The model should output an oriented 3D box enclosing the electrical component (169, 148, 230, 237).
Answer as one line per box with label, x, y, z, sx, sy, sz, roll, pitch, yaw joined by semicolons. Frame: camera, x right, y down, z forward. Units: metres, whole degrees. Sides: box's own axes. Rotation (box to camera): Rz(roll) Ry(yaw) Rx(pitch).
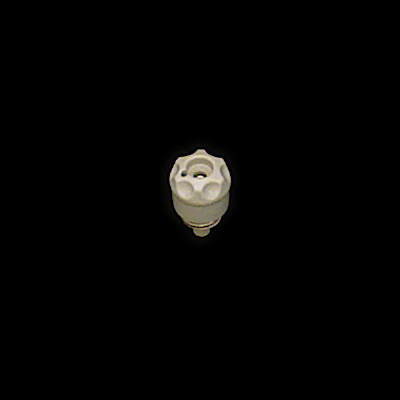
electrical component;0.000;0.000;0.635;0.035;0.035;0.062;0;-37;1
